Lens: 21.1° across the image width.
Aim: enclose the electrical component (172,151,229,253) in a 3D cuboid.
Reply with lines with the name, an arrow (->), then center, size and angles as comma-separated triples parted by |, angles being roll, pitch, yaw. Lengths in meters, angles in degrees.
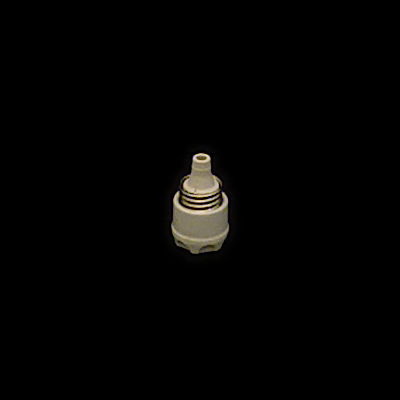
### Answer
electrical component -> 0.000, 0.000, 0.648 | 0.035, 0.062, 0.034 | 1, 34, 0
